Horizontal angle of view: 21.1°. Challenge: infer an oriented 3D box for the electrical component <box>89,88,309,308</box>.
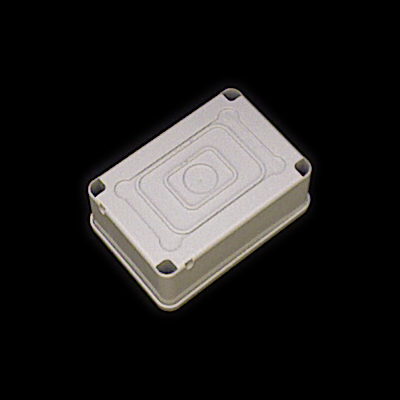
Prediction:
[{"bbox_3d":[0.000,0.000,0.628,0.113,0.078,0.057,-36,-22,-17],"label":"electrical component"}]
